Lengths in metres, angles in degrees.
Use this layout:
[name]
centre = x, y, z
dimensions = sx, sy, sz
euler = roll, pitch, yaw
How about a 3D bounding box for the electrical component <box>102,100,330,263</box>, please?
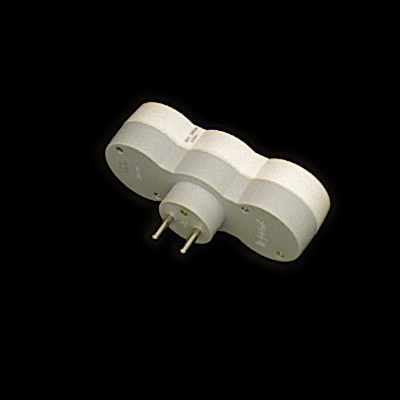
[electrical component]
centre = 0.000, 0.000, 0.638
dimensions = 0.137, 0.074, 0.052
euler = 26, -31, 18
